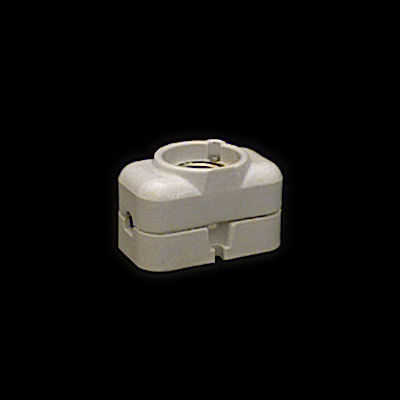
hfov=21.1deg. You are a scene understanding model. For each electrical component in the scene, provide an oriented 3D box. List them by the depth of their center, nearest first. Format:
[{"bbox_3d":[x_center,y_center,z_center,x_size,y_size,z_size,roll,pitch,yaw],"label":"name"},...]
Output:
[{"bbox_3d":[0.000,0.000,0.647,0.096,0.060,0.052,-10,25,-26],"label":"electrical component"}]
